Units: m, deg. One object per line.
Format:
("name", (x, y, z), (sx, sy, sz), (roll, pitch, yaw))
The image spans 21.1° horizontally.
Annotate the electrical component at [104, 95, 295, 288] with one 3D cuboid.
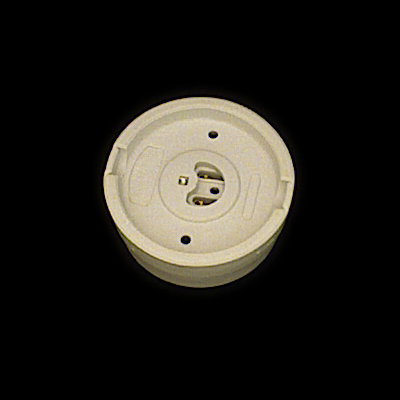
("electrical component", (0.000, 0.000, 0.633), (0.108, 0.108, 0.060), (0, -26, -1))
